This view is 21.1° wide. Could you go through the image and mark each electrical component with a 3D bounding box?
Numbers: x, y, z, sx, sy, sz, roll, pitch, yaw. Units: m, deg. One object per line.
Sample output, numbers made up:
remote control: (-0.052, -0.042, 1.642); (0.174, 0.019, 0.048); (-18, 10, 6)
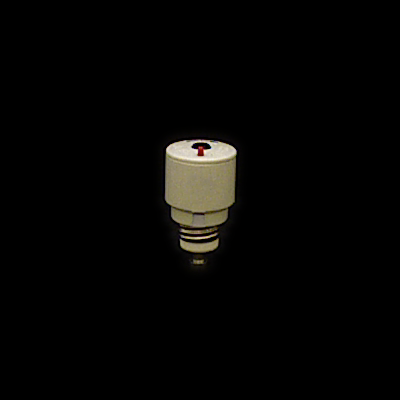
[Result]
electrical component: (0.000, 0.000, 0.633); (0.040, 0.079, 0.039); (1, 22, 0)
